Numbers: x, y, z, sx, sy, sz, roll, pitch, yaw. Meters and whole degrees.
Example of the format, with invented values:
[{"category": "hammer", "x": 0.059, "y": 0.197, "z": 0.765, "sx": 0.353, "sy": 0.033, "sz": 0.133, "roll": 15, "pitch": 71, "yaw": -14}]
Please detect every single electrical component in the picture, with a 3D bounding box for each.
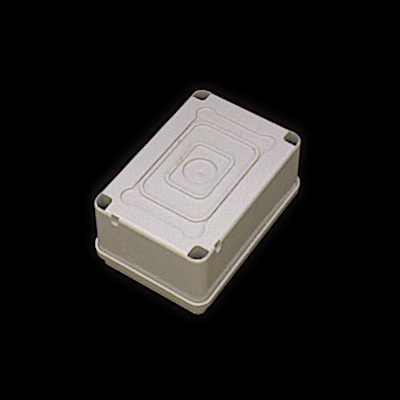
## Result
[{"category": "electrical component", "x": 0.000, "y": 0.000, "z": 0.630, "sx": 0.078, "sy": 0.113, "sz": 0.057, "roll": 28, "pitch": -34, "yaw": 20}]
